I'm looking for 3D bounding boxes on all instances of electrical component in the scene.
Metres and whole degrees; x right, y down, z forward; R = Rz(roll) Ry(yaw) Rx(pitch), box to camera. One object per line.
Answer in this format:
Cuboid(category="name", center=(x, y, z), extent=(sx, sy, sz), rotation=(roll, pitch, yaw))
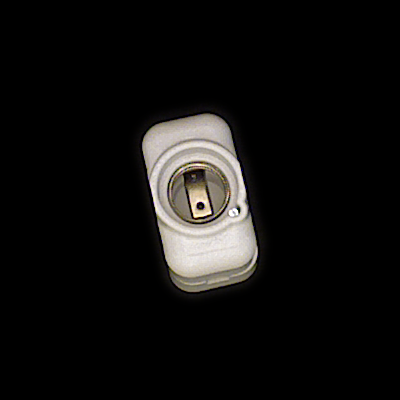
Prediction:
Cuboid(category="electrical component", center=(0.000, 0.000, 0.634), extent=(0.054, 0.095, 0.059), rotation=(-13, -15, -3))
